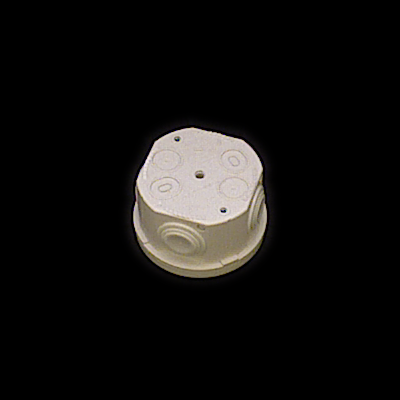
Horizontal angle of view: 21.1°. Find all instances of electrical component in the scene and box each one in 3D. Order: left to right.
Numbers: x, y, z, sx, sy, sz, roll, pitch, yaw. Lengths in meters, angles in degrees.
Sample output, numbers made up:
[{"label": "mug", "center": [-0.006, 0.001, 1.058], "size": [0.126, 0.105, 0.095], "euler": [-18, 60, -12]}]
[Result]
[{"label": "electrical component", "center": [0.000, 0.000, 0.633], "size": [0.080, 0.080, 0.051], "euler": [0, -38, 0]}]
